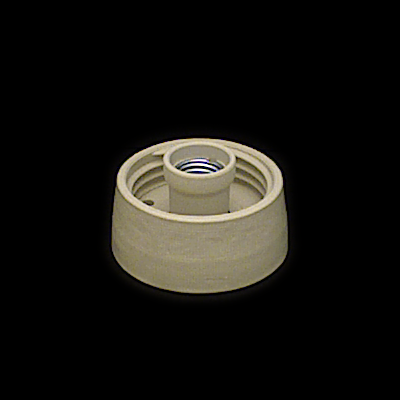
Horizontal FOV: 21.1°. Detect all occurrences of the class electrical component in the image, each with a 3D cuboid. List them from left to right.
[{"bbox_3d":[0.000,0.000,0.642,0.108,0.061,0.106,1,32,0],"label":"electrical component"}]
